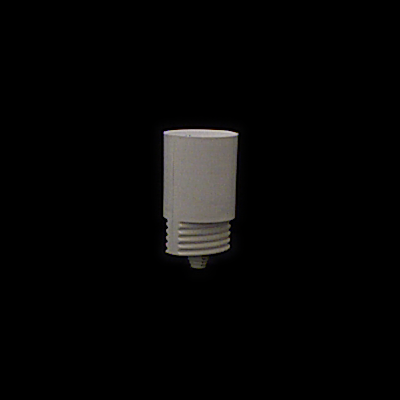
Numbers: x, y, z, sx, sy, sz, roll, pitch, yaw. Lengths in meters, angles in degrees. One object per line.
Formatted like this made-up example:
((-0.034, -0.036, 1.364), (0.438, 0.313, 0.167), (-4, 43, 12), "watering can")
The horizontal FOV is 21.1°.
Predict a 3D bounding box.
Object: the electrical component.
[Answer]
((0.000, 0.000, 0.639), (0.043, 0.082, 0.043), (0, 11, 0), "electrical component")
